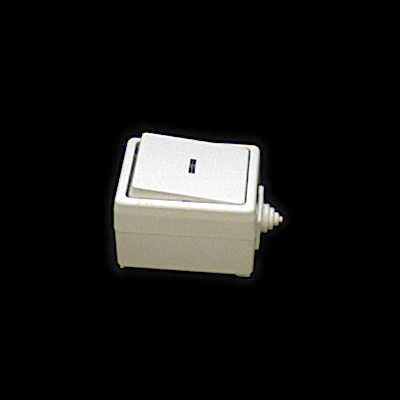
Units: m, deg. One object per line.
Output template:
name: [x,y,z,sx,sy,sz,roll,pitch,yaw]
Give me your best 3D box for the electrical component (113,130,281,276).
electrical component: [0.000,0.000,0.630,0.096,0.061,0.061,4,42,3]
